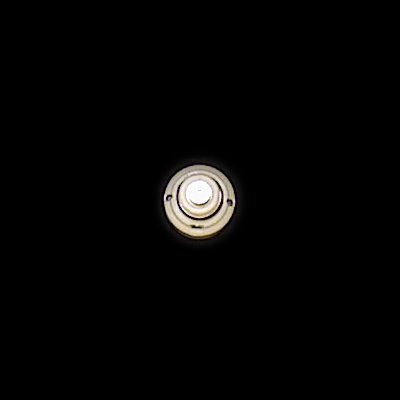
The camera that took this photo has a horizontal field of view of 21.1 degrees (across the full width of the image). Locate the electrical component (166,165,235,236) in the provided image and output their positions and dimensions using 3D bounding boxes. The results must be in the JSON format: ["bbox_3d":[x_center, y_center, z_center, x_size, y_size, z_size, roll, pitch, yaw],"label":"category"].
[{"bbox_3d":[0.000,0.000,0.618,0.040,0.040,0.078,0,-6,-1],"label":"electrical component"}]
